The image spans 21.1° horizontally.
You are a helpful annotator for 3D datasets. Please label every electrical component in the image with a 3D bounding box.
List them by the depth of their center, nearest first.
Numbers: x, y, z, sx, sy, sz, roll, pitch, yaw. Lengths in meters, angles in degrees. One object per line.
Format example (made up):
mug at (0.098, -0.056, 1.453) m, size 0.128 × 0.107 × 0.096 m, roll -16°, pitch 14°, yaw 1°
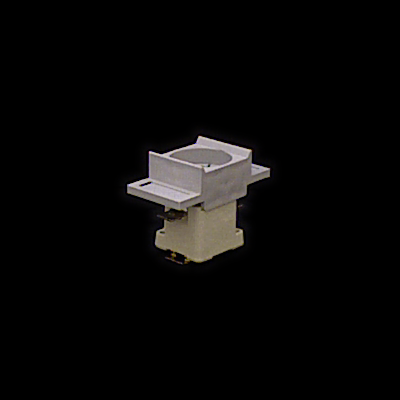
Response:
electrical component at (0.000, 0.000, 0.640) m, size 0.042 × 0.064 × 0.080 m, roll 18°, pitch 27°, yaw 39°
